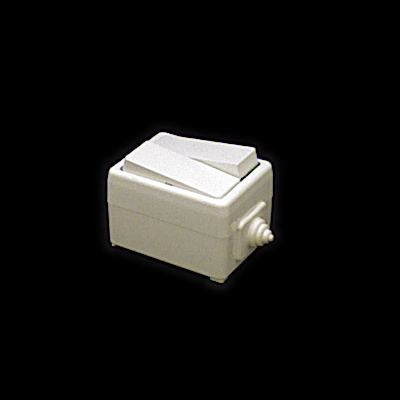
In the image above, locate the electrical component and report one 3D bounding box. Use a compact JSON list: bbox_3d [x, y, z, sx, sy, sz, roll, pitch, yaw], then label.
[{"bbox_3d":[0.000,0.000,0.633,0.096,0.061,0.061,17,35,25],"label":"electrical component"}]
